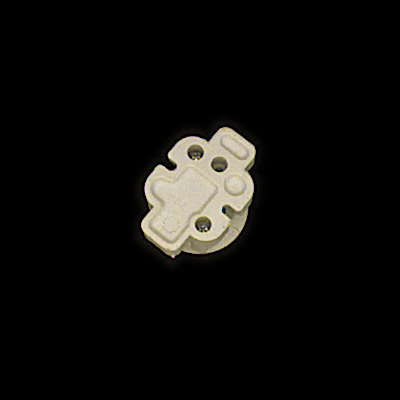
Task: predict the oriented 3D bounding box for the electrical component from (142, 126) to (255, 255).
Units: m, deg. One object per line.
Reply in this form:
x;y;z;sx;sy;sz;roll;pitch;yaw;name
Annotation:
0.000;0.000;0.635;0.058;0.079;0.056;37;-11;9;electrical component
